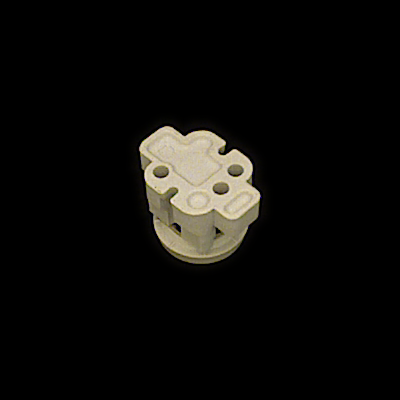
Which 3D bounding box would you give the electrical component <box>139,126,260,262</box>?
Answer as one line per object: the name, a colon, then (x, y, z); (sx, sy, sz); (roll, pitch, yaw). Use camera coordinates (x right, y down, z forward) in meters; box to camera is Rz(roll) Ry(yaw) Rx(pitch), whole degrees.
electrical component: (0.000, 0.000, 0.637); (0.078, 0.057, 0.058); (36, 62, 25)
